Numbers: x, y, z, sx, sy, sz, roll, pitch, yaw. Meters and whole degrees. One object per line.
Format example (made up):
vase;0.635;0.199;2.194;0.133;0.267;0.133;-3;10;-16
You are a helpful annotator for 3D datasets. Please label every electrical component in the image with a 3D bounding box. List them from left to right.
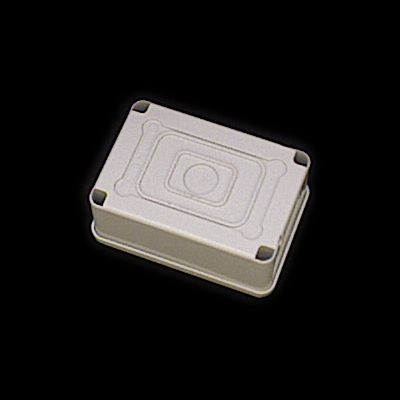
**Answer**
electrical component;0.000;0.000;0.628;0.113;0.078;0.057;19;-25;10
